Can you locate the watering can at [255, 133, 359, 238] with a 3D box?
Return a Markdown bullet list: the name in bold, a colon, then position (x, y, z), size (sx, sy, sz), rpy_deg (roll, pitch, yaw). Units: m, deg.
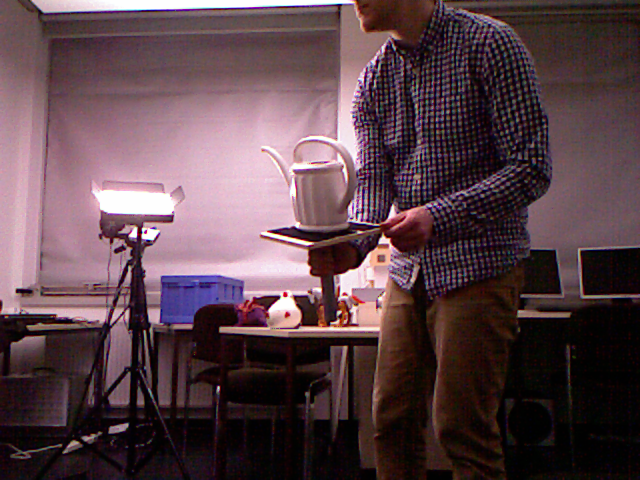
- **watering can**: position (-0.032, -0.119, 1.118), size (0.105, 0.222, 0.350), rpy_deg (-15, 17, -35)
